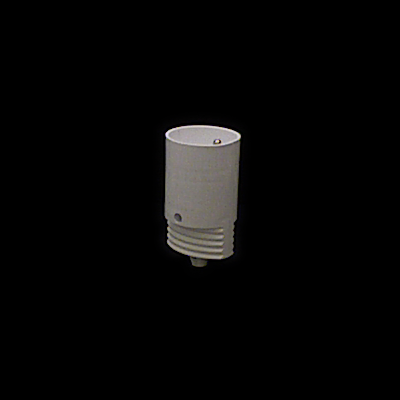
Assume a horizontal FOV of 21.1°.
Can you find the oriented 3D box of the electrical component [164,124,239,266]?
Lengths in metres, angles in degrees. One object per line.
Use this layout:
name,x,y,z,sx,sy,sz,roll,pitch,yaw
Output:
electrical component,0.000,0.000,0.635,0.043,0.082,0.042,1,22,0
